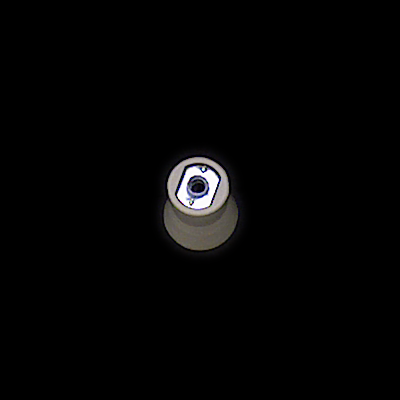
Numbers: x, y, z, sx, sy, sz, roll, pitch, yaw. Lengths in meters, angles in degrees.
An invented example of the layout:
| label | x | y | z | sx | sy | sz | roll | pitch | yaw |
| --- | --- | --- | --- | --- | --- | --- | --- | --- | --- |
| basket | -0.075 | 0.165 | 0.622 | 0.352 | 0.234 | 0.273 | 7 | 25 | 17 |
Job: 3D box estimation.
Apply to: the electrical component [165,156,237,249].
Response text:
| label | x | y | z | sx | sy | sz | roll | pitch | yaw |
| --- | --- | --- | --- | --- | --- | --- | --- | --- | --- |
| electrical component | 0.000 | 0.000 | 0.625 | 0.044 | 0.044 | 0.065 | 0 | -17 | 1 |
